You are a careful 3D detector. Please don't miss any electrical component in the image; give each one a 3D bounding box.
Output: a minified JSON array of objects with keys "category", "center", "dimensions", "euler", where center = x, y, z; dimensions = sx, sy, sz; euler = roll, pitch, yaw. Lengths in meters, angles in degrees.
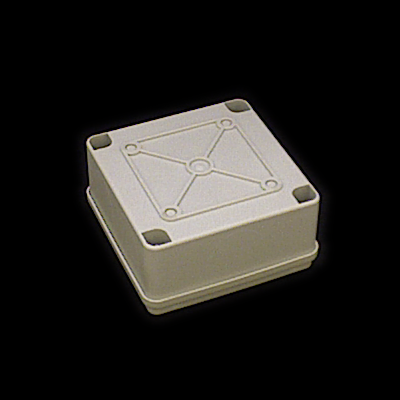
[{"category":"electrical component","center":[0.000,0.000,0.629],"dimensions":[0.109,0.056,0.107],"euler":[-16,45,-18]}]
